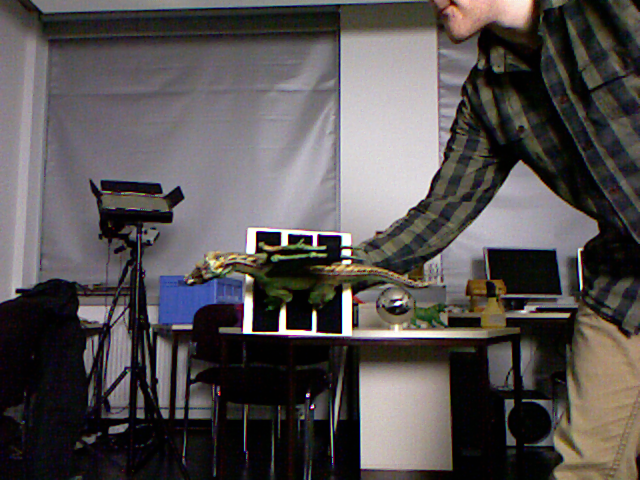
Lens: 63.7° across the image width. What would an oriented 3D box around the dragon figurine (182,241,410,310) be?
[{"bbox_3d":[-0.016,0.049,0.863,0.411,0.123,0.241,-2,-10,-9],"label":"dragon figurine"}]
